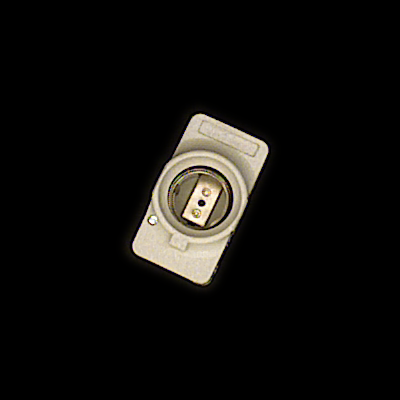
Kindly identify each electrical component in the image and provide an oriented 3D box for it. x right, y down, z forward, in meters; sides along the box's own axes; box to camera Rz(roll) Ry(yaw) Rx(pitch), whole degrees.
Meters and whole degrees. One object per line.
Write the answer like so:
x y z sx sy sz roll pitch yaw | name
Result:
0.000 0.000 0.637 0.050 0.090 0.055 24 -5 3 | electrical component
